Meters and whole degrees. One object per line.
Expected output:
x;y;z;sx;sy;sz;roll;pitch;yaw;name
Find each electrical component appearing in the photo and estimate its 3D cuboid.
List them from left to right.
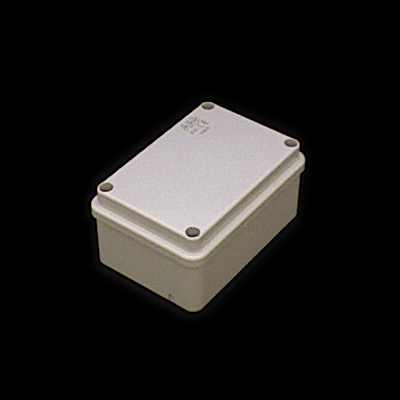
0.000;0.000;0.632;0.077;0.057;0.113;27;48;26;electrical component
